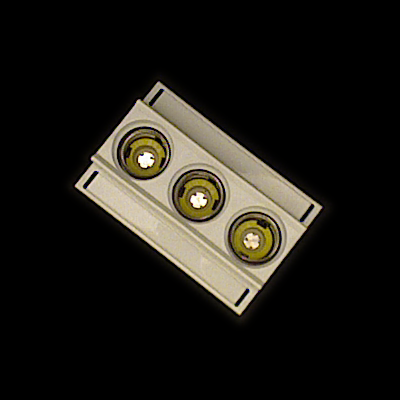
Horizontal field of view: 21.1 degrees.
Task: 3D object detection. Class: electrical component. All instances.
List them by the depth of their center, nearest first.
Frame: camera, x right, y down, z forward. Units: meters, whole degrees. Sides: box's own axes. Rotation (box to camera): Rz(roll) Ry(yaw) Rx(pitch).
[{"bbox_3d":[0.000,0.000,0.637,0.121,0.079,0.063,38,-5,4],"label":"electrical component"}]
